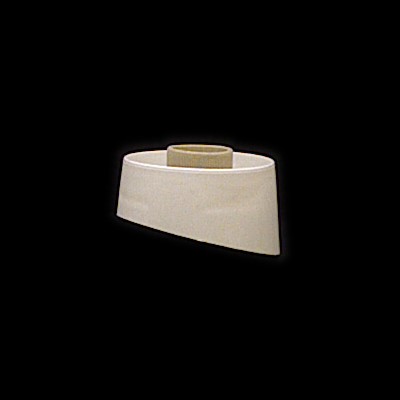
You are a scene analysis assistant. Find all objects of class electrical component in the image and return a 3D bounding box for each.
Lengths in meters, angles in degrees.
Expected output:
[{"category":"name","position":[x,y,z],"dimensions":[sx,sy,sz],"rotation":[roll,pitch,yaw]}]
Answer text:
[{"category":"electrical component","position":[0.000,0.000,0.643],"dimensions":[0.099,0.064,0.098],"rotation":[2,10,0]}]
